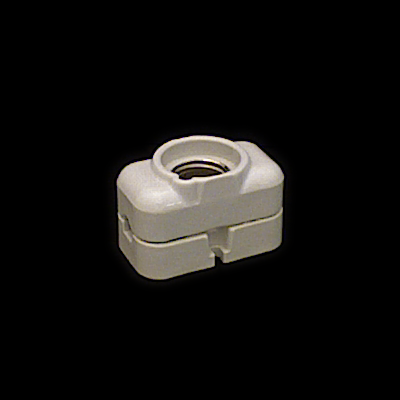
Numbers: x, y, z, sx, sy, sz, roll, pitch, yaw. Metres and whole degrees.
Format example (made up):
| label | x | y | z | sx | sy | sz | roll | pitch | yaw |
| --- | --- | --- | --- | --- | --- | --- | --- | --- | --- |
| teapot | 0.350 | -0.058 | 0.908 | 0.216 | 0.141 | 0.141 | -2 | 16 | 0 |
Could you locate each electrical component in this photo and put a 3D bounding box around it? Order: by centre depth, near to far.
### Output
| label | x | y | z | sx | sy | sz | roll | pitch | yaw |
| --- | --- | --- | --- | --- | --- | --- | --- | --- | --- |
| electrical component | 0.000 | 0.000 | 0.640 | 0.095 | 0.060 | 0.053 | -14 | 35 | -22 |
